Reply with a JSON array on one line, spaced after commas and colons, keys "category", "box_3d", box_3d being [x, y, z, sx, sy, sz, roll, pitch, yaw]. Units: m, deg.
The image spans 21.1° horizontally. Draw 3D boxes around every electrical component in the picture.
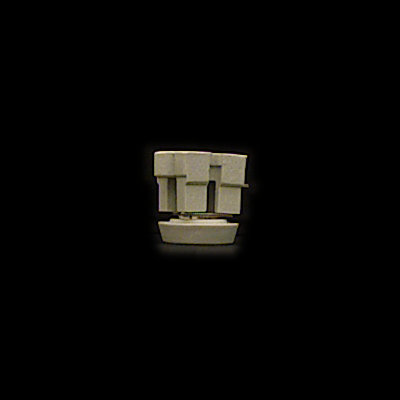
[{"category": "electrical component", "box_3d": [0.000, 0.000, 0.655, 0.067, 0.055, 0.048, 1, 0, -32]}]
